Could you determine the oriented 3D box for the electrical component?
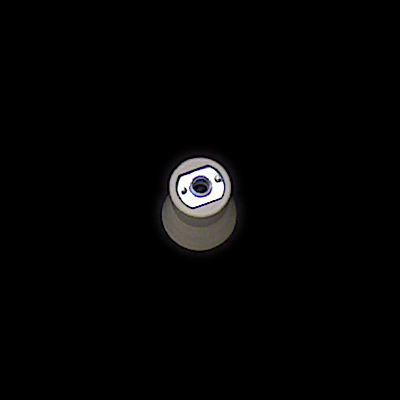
[{"bbox_3d":[0.000,0.000,0.624,0.044,0.044,0.065,0,-16,-1],"label":"electrical component"}]
